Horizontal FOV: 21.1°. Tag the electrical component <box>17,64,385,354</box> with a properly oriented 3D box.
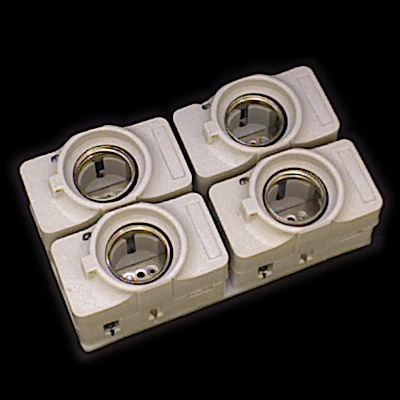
[{"bbox_3d":[0.000,0.000,0.625,0.186,0.105,0.060,-20,-25,-10],"label":"electrical component"}]
